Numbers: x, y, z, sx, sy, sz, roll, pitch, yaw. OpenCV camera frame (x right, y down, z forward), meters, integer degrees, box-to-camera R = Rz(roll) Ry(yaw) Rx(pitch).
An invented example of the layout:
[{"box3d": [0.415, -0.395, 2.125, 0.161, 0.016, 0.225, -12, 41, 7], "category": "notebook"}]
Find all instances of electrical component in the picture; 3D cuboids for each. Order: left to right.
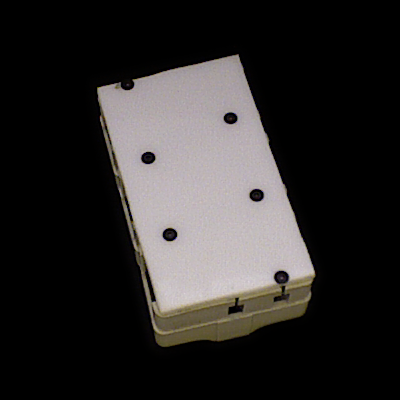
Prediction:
[{"box3d": [0.000, 0.000, 0.630, 0.089, 0.149, 0.062, -13, -26, -6], "category": "electrical component"}]
